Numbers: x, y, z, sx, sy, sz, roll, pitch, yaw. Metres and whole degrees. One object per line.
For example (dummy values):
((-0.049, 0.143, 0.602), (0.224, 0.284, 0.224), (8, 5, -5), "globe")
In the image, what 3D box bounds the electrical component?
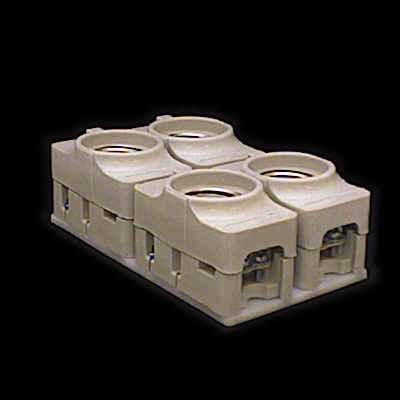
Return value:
((0.000, 0.000, 0.638), (0.105, 0.061, 0.184), (-14, 25, -35), "electrical component")
